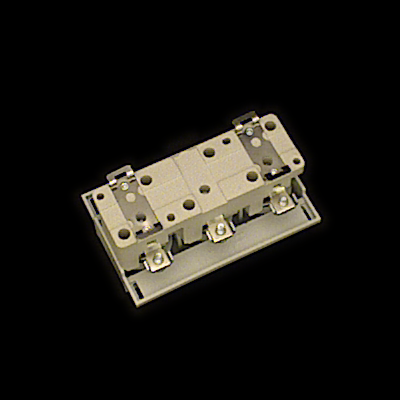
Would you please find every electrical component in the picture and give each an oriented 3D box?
[{"bbox_3d":[0.000,0.000,0.635,0.122,0.078,0.063,-24,-25,-12],"label":"electrical component"}]
